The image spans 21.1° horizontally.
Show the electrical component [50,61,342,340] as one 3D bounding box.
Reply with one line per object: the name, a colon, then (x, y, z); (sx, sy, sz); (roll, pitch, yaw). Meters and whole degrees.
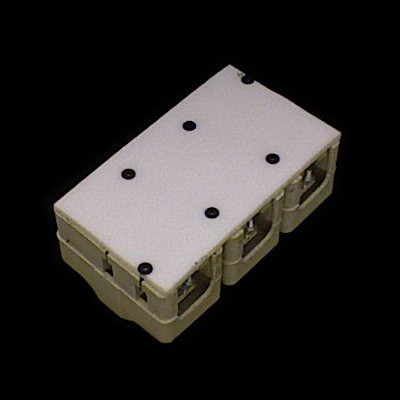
electrical component: (0.000, 0.000, 0.631); (0.089, 0.062, 0.149); (36, 60, 24)
